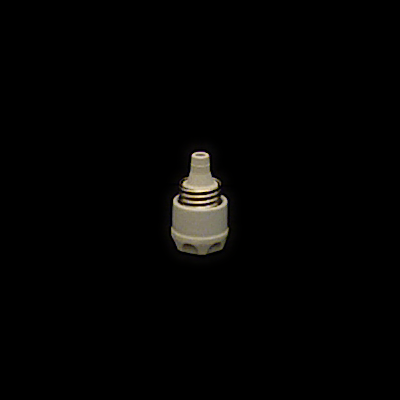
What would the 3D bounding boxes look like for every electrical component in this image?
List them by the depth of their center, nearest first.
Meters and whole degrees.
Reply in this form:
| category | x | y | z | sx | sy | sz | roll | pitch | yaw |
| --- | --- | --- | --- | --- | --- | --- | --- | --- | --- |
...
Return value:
| category | x | y | z | sx | sy | sz | roll | pitch | yaw |
| --- | --- | --- | --- | --- | --- | --- | --- | --- | --- |
| electrical component | 0.000 | 0.000 | 0.652 | 0.035 | 0.062 | 0.034 | 0 | 24 | 0 |
